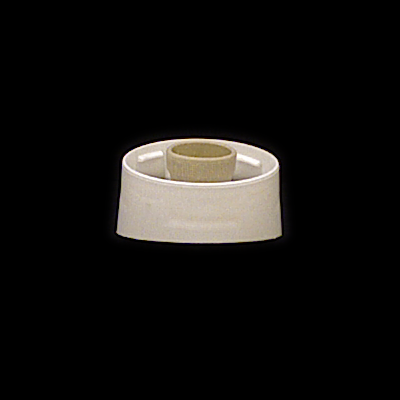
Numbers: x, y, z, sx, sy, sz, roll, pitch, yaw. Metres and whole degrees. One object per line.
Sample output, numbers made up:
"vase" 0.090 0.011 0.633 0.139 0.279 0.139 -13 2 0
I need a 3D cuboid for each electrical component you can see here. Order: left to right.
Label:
"electrical component" 0.000 0.000 0.638 0.099 0.065 0.097 1 20 0
